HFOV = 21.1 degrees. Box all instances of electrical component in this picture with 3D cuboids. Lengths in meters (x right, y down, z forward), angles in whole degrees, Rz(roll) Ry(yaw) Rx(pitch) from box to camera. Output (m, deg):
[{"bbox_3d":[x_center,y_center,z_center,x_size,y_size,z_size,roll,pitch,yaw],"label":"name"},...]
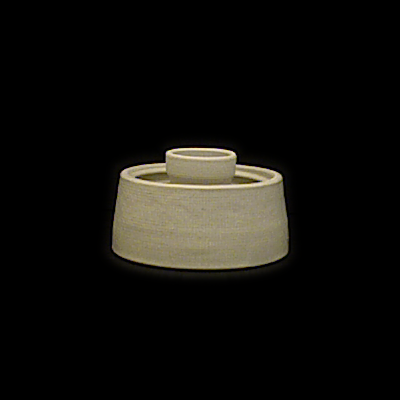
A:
[{"bbox_3d":[0.000,0.000,0.651,0.108,0.061,0.107,1,11,0],"label":"electrical component"}]
